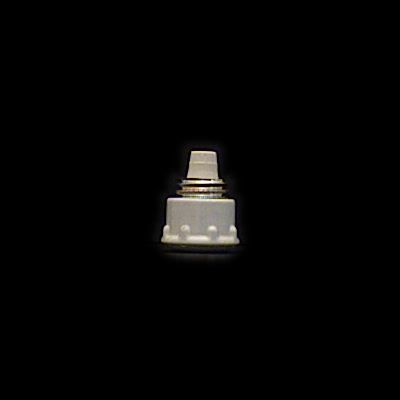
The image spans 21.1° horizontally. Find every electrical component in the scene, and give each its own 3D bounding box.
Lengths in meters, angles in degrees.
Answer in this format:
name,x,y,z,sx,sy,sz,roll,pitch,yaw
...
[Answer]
name,x,y,z,sx,sy,sz,roll,pitch,yaw
electrical component,0.000,0.000,0.658,0.048,0.062,0.048,2,1,0
